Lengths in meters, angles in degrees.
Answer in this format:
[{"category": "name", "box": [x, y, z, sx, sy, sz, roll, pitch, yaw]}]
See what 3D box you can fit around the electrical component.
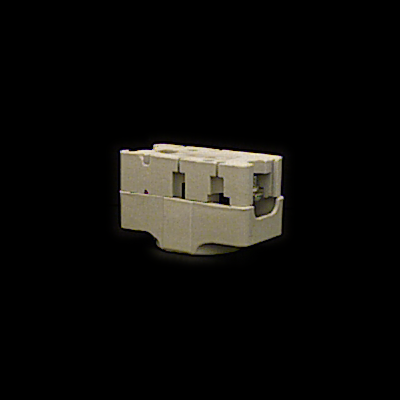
[{"category": "electrical component", "box": [0.000, 0.000, 0.651, 0.088, 0.056, 0.050, 7, 14, 31]}]
